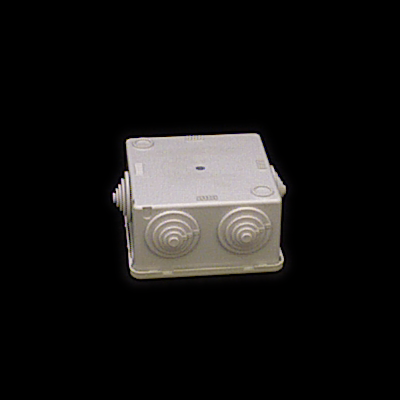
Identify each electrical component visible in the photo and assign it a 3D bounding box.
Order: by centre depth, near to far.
[{"bbox_3d":[0.000,0.000,0.636,0.100,0.049,0.098,-3,32,-6],"label":"electrical component"}]
